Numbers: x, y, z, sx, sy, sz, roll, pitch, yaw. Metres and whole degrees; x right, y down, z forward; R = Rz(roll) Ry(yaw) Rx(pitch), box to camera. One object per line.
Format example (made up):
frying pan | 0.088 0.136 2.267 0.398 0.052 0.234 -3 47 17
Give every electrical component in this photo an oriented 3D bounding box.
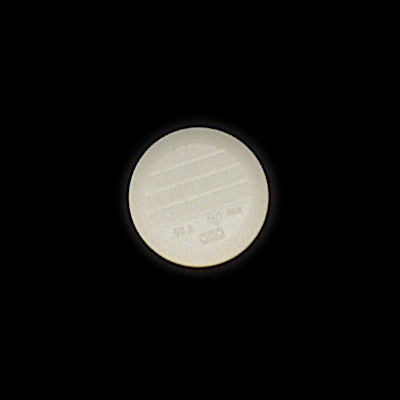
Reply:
electrical component | 0.000 0.000 0.631 0.080 0.080 0.050 0 -7 0
